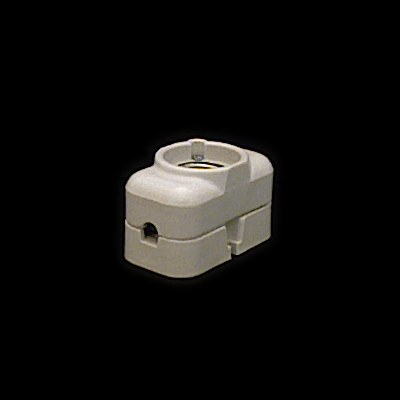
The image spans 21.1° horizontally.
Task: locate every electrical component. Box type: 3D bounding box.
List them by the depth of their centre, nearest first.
[{"bbox_3d":[0.000,0.000,0.646,0.053,0.060,0.095,17,26,34],"label":"electrical component"}]
